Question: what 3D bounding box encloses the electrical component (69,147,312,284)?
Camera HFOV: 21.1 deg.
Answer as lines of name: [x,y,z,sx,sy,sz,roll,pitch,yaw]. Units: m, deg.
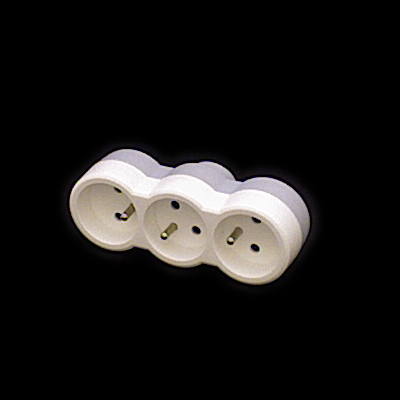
electrical component: [0.000,0.000,0.637,0.137,0.053,0.073,12,31,19]
